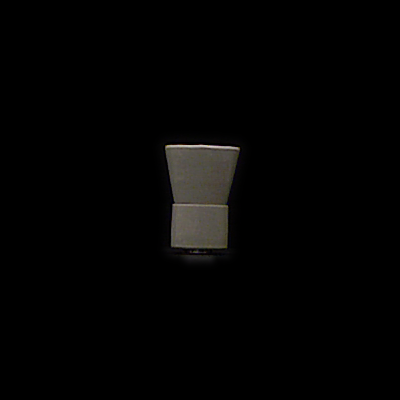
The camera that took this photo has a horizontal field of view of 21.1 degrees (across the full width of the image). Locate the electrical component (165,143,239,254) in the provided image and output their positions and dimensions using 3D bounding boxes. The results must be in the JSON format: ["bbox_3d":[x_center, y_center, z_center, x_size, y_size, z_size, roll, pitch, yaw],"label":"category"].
[{"bbox_3d":[0.000,0.000,0.648,0.044,0.065,0.044,2,2,0],"label":"electrical component"}]
